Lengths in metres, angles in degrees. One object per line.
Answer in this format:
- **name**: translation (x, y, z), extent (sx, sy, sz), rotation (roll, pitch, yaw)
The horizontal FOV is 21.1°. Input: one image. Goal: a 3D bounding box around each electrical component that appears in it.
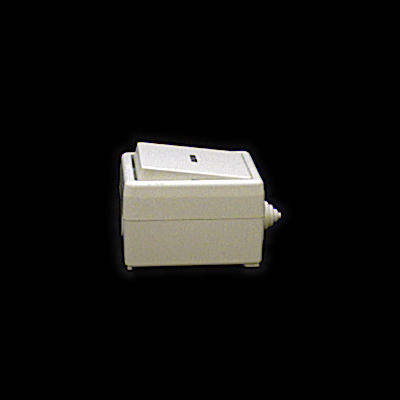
- **electrical component**: translation (0.000, 0.000, 0.639), extent (0.096, 0.061, 0.061), rotation (-1, 21, -6)
